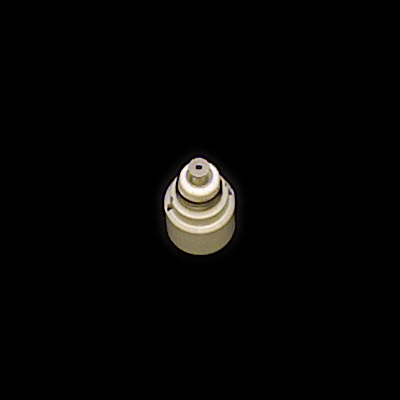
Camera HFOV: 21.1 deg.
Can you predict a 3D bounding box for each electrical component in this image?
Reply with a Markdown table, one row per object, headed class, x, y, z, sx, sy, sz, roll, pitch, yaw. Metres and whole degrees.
| class | x | y | z | sx | sy | sz | roll | pitch | yaw |
| --- | --- | --- | --- | --- | --- | --- | --- | --- | --- |
| electrical component | 0.000 | 0.000 | 0.618 | 0.040 | 0.040 | 0.078 | 0 | -27 | 1 |
